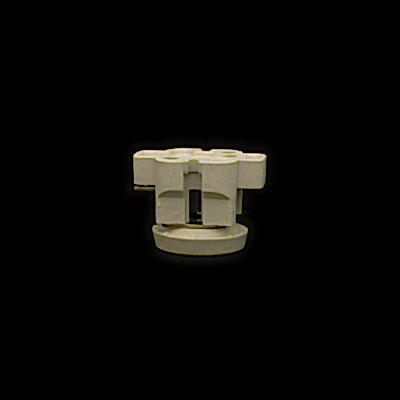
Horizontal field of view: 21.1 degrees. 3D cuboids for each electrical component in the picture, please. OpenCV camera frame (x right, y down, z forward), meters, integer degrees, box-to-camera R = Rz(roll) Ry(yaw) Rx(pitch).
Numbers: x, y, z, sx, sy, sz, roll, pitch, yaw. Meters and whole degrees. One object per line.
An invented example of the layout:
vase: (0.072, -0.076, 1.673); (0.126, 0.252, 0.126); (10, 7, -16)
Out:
electrical component: (0.000, 0.000, 0.650); (0.078, 0.057, 0.057); (1, 12, 7)
